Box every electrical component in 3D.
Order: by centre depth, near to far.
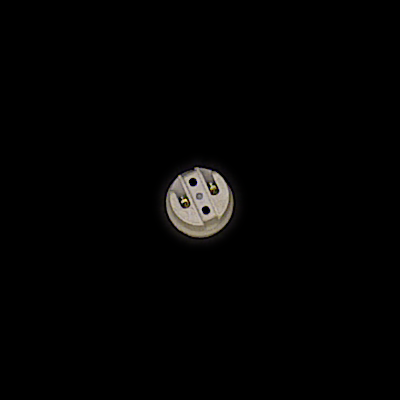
[{"bbox_3d":[0.000,0.000,0.635,0.040,0.040,0.046,0,-6,0],"label":"electrical component"}]
